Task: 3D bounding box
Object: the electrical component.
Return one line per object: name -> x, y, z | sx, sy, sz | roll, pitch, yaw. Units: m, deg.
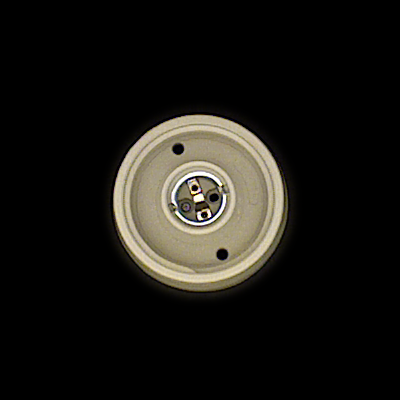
electrical component -> 0.000, 0.000, 0.635 | 0.108, 0.108, 0.060 | 0, -6, 0
